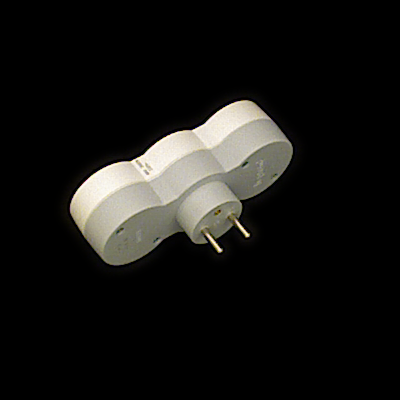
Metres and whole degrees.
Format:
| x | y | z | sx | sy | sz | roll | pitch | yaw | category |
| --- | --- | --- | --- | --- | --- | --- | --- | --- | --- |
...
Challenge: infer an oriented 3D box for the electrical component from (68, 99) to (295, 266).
| x | y | z | sx | sy | sz | roll | pitch | yaw | category |
| --- | --- | --- | --- | --- | --- | --- | --- | --- | --- |
| 0.000 | 0.000 | 0.637 | 0.139 | 0.073 | 0.052 | -28 | -30 | -20 | electrical component |
